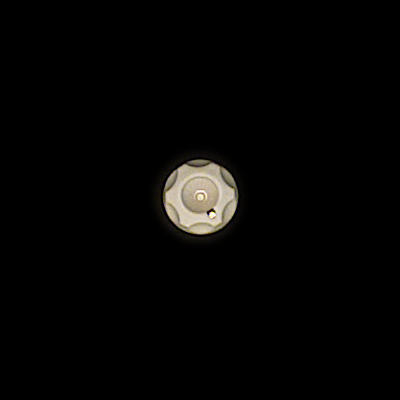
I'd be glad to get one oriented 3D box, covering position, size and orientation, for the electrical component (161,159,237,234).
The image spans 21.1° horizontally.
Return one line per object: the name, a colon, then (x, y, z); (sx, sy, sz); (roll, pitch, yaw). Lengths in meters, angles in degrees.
electrical component: (0.000, 0.000, 0.635); (0.043, 0.043, 0.062); (0, -6, 2)
